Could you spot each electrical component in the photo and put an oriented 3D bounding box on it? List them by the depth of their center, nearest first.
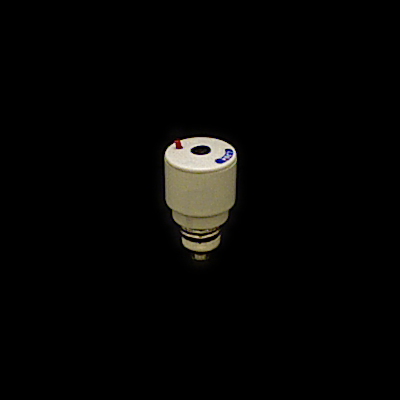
[{"bbox_3d":[0.000,0.000,0.630,0.040,0.079,0.039,0,31,0],"label":"electrical component"}]
